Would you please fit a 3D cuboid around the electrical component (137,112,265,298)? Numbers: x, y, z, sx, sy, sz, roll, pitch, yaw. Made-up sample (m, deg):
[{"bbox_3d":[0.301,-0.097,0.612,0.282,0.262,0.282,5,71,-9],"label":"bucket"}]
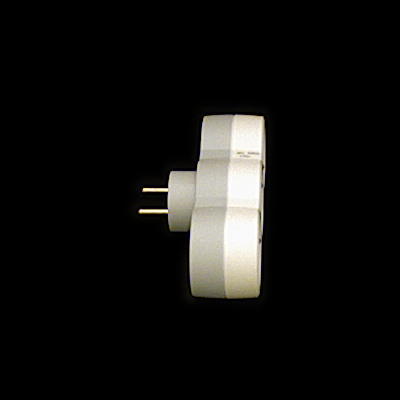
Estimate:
[{"bbox_3d":[0.000,0.000,0.642,0.073,0.053,0.137,2,43,3],"label":"electrical component"}]
